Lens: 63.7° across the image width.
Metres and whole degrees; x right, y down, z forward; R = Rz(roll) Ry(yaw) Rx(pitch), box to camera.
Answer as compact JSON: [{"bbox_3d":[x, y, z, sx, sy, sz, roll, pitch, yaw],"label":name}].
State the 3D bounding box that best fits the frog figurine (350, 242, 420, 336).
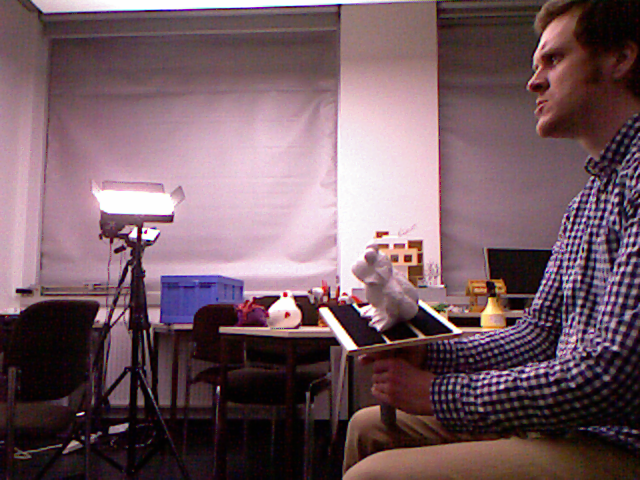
[{"bbox_3d":[0.116,0.075,0.920,0.123,0.157,0.139,-3,16,0],"label":"frog figurine"}]
